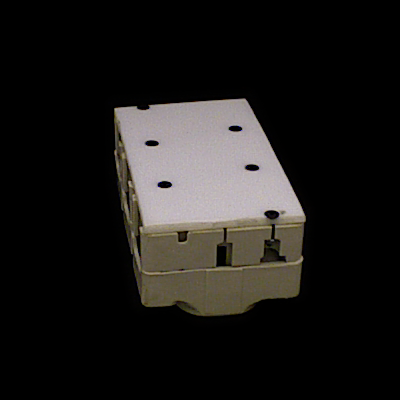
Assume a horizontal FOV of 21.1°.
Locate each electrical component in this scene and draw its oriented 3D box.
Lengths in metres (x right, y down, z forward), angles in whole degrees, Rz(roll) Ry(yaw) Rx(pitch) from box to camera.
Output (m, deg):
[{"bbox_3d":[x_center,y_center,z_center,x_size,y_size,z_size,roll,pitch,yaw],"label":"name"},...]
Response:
[{"bbox_3d":[0.000,0.000,0.642,0.090,0.063,0.146,-4,31,-9],"label":"electrical component"}]
